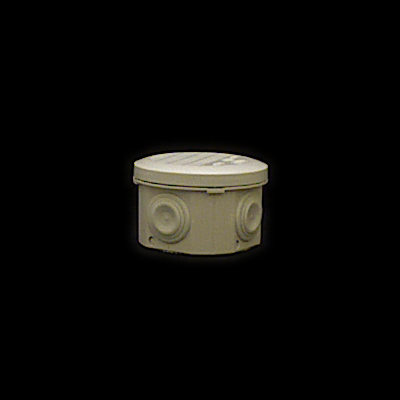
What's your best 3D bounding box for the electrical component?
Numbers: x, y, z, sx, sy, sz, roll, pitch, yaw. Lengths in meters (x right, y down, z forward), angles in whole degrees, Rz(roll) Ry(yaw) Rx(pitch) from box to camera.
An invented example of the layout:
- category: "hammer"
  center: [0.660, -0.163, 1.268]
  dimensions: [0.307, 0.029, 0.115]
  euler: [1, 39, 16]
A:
- category: "electrical component"
  center: [0.000, 0.000, 0.642]
  dimensions: [0.080, 0.051, 0.079]
  euler: [1, 11, 0]
